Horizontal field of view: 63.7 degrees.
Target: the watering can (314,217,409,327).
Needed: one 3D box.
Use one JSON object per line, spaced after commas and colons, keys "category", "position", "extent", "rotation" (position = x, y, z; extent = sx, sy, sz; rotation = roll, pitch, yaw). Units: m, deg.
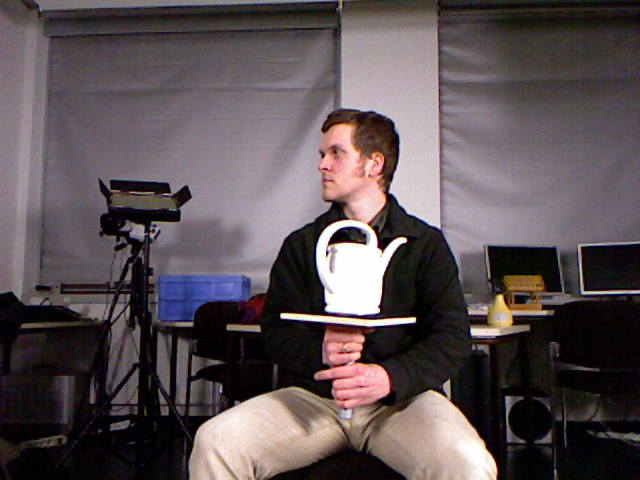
{"category": "watering can", "position": [0.098, 0.069, 1.095], "extent": [0.104, 0.225, 0.347], "rotation": [3, -3, 38]}
